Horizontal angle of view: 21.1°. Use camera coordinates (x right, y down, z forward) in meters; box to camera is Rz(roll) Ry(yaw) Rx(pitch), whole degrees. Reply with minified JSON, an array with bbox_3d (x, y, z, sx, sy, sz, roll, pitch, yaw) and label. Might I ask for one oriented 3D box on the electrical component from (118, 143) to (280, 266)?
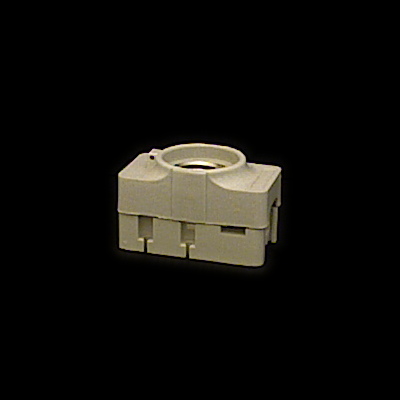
[{"bbox_3d":[0.000,0.000,0.647,0.089,0.056,0.050,7,23,13],"label":"electrical component"}]
